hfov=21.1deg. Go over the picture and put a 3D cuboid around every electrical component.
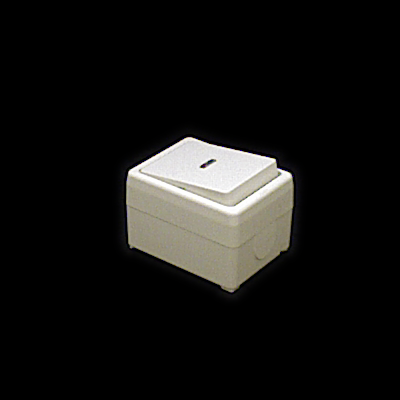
[{"bbox_3d":[0.000,0.000,0.635,0.095,0.061,0.061,22,37,31],"label":"electrical component"}]
